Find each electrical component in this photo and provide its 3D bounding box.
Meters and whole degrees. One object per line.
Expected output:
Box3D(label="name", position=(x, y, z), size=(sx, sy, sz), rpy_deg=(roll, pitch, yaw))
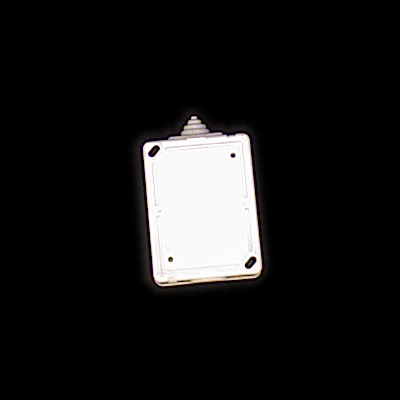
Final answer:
Box3D(label="electrical component", position=(0.000, 0.000, 0.629), size=(0.062, 0.096, 0.061), rpy_deg=(-5, -8, 0))
